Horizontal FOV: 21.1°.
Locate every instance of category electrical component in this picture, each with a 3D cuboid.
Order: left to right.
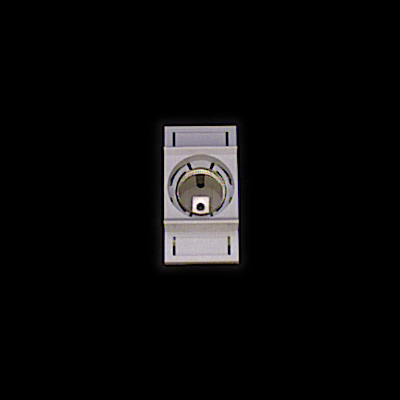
[{"bbox_3d":[0.000,0.000,0.623,0.042,0.081,0.063,0,-17,-1],"label":"electrical component"}]
